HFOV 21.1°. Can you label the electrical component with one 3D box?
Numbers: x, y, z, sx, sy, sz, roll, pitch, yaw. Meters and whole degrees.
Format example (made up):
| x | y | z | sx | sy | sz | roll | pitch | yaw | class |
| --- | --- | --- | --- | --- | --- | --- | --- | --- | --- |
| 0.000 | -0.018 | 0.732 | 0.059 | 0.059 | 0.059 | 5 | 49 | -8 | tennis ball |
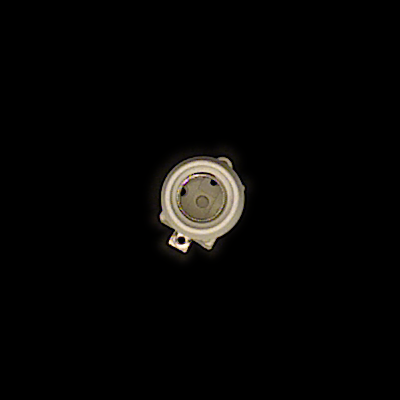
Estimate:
| x | y | z | sx | sy | sz | roll | pitch | yaw | class |
| --- | --- | --- | --- | --- | --- | --- | --- | --- | --- |
| 0.000 | 0.000 | 0.639 | 0.048 | 0.067 | 0.055 | 28 | -5 | 5 | electrical component |
